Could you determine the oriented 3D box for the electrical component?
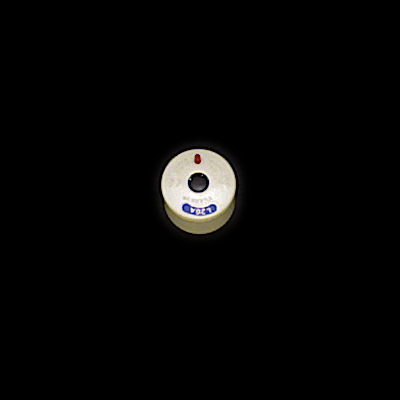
[{"bbox_3d":[0.000,0.000,0.618,0.040,0.040,0.078,0,-17,0],"label":"electrical component"}]
